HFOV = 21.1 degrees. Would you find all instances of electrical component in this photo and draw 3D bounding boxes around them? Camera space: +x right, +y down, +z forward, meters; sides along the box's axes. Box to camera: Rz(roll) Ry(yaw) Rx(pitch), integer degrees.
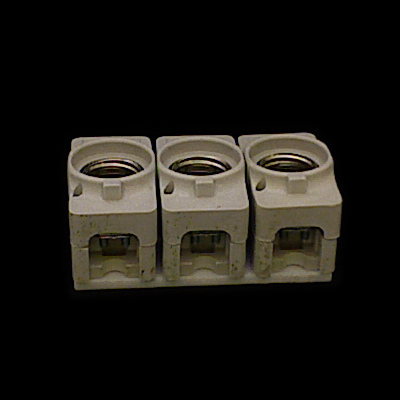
[{"bbox_3d":[0.000,0.000,0.639,0.150,0.063,0.087,-2,32,-4],"label":"electrical component"}]
